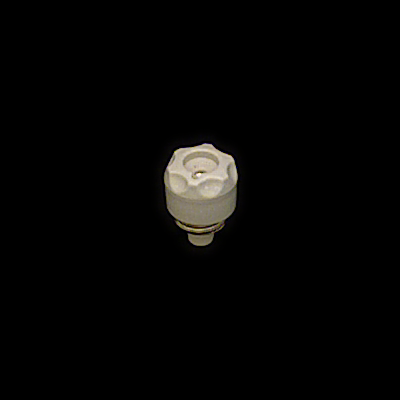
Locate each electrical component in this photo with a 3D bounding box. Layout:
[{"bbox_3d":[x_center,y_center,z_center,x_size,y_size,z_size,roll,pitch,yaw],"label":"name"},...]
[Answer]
[{"bbox_3d":[0.000,0.000,0.639,0.043,0.062,0.043,0,42,0],"label":"electrical component"}]
